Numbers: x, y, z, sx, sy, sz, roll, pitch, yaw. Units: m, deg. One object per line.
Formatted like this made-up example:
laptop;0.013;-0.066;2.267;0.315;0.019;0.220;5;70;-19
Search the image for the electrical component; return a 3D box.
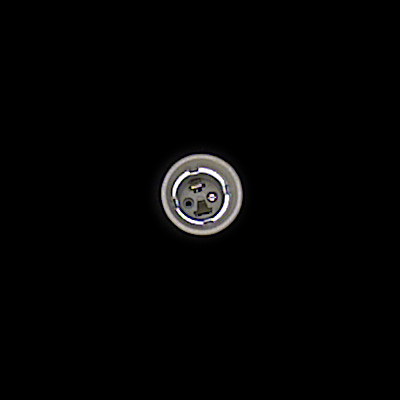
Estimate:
electrical component;0.000;0.000;0.625;0.044;0.044;0.065;0;-7;0
